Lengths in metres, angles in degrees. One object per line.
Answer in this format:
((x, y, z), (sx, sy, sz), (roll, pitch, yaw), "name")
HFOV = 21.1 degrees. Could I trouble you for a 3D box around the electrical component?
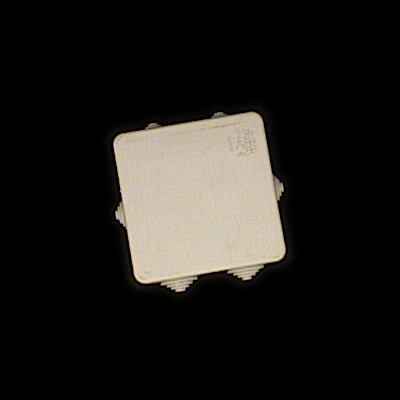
((0.000, 0.000, 0.642), (0.100, 0.100, 0.048), (-9, -6, -1), "electrical component")
